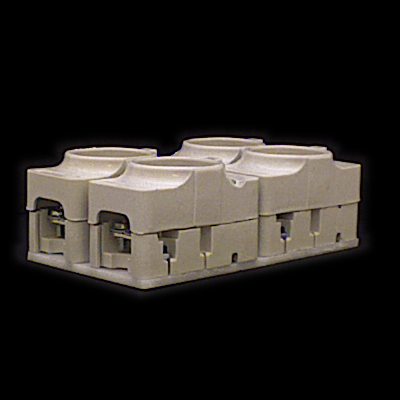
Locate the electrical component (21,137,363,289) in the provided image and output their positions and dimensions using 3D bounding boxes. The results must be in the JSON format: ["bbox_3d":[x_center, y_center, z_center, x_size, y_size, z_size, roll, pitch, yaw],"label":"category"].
[{"bbox_3d":[0.000,0.000,0.645,0.186,0.060,0.104,-8,13,-44],"label":"electrical component"}]
